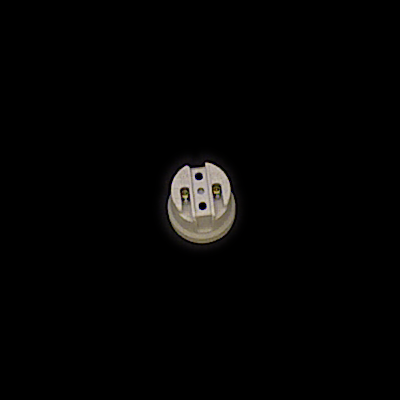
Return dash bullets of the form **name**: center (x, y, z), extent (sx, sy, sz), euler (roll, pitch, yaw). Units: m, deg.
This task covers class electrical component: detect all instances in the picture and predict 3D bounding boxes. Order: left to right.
- **electrical component**: center (0.000, 0.000, 0.633), extent (0.040, 0.040, 0.046), euler (0, -17, 1)
